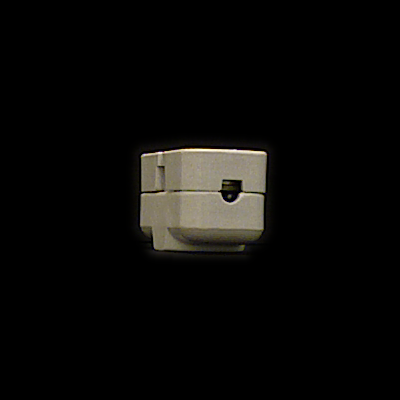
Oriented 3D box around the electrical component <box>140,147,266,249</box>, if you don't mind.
[{"bbox_3d":[0.000,0.000,0.659,0.054,0.059,0.094,1,0,-23],"label":"electrical component"}]
